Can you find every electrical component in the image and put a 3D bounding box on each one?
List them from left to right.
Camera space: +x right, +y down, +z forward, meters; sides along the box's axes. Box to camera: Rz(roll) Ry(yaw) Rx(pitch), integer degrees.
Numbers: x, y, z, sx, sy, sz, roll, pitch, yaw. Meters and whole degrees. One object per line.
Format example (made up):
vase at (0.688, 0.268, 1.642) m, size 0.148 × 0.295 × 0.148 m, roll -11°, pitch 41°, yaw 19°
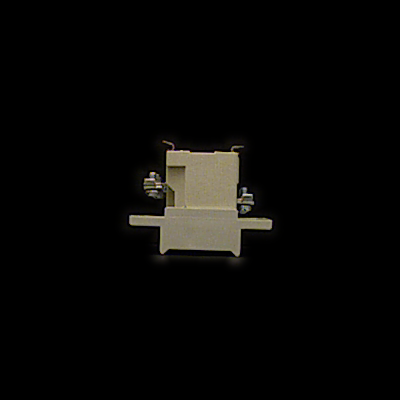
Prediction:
electrical component at (0.000, 0.000, 0.658) m, size 0.079 × 0.063 × 0.121 m, roll 2°, pitch 0°, yaw 0°
